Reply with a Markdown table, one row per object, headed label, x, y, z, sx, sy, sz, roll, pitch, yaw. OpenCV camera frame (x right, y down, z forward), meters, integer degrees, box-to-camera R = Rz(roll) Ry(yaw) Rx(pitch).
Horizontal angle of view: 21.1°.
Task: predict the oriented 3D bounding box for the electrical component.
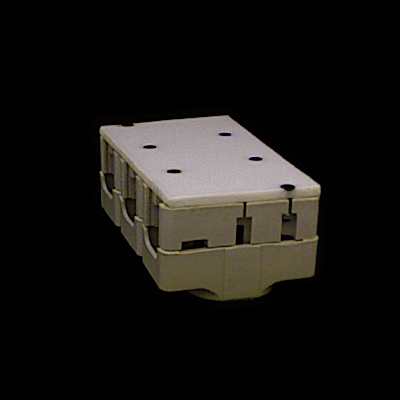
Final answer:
| label | x | y | z | sx | sy | sz | roll | pitch | yaw |
| --- | --- | --- | --- | --- | --- | --- | --- | --- | --- |
| electrical component | 0.000 | 0.000 | 0.643 | 0.089 | 0.063 | 0.147 | -6 | 22 | -17 |
